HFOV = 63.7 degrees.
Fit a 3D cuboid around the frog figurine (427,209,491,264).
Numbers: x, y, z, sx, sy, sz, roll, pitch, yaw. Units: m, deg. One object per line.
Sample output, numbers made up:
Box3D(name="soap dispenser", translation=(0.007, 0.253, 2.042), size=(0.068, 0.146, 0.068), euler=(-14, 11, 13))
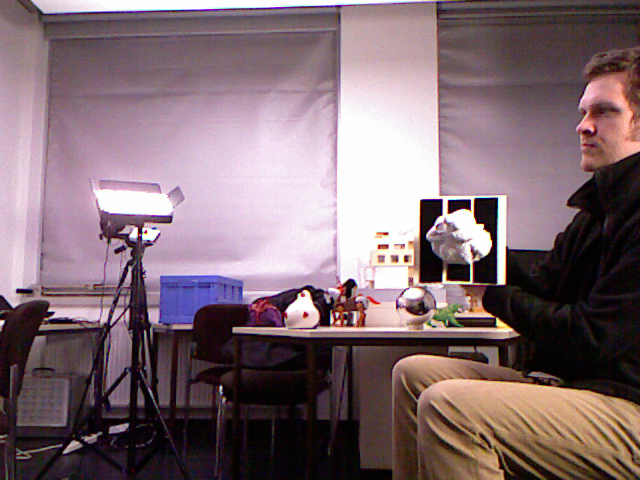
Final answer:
Box3D(name="frog figurine", translation=(0.306, -0.005, 1.128), size=(0.138, 0.123, 0.160), euler=(23, 5, 10))
